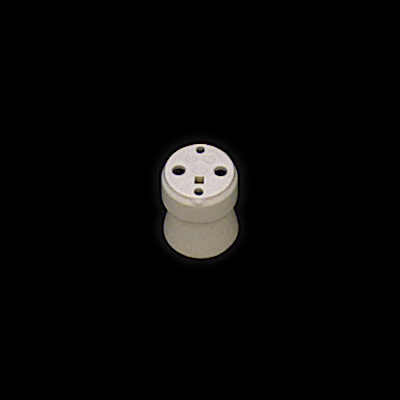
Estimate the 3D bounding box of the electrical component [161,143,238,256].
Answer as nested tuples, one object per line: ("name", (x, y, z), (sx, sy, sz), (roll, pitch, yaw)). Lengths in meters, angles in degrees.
("electrical component", (0.000, 0.000, 0.630), (0.045, 0.044, 0.055), (0, -38, 0))
